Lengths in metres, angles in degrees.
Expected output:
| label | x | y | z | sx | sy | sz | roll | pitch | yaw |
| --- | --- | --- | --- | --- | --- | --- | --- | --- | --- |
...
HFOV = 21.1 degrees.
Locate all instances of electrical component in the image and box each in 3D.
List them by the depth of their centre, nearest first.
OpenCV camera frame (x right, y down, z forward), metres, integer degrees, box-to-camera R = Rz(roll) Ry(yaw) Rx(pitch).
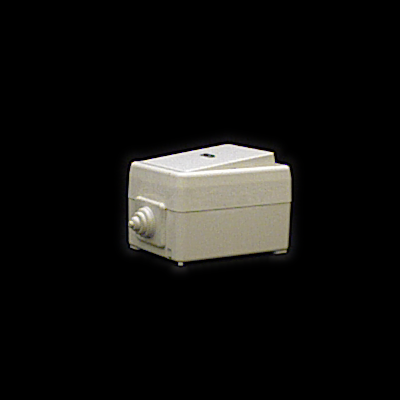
| label | x | y | z | sx | sy | sz | roll | pitch | yaw |
| --- | --- | --- | --- | --- | --- | --- | --- | --- | --- |
| electrical component | 0.000 | 0.000 | 0.643 | 0.096 | 0.061 | 0.061 | -5 | 12 | -33 |
